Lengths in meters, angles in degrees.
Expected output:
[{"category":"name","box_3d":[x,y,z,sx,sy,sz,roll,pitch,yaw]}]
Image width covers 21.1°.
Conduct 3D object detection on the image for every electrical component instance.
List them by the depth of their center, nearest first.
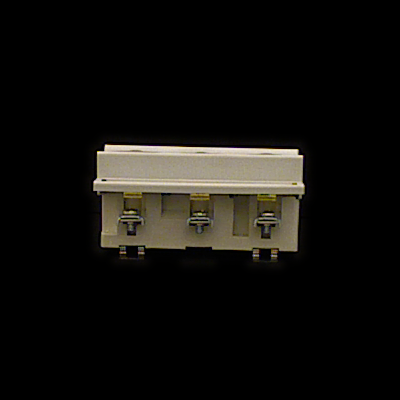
[{"category":"electrical component","box_3d":[0.000,0.000,0.658,0.121,0.063,0.078,1,10,1]}]
